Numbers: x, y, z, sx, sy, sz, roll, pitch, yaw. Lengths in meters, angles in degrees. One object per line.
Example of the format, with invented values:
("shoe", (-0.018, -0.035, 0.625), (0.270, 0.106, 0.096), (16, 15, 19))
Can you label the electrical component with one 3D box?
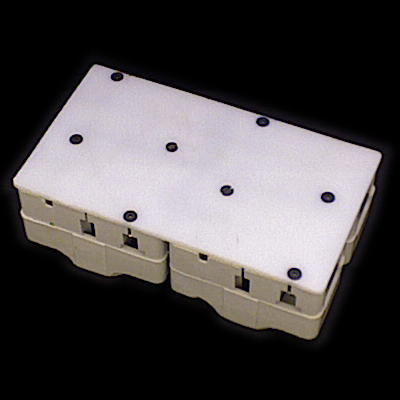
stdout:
("electrical component", (0.000, 0.000, 0.627), (0.186, 0.105, 0.060), (19, -36, 13))
